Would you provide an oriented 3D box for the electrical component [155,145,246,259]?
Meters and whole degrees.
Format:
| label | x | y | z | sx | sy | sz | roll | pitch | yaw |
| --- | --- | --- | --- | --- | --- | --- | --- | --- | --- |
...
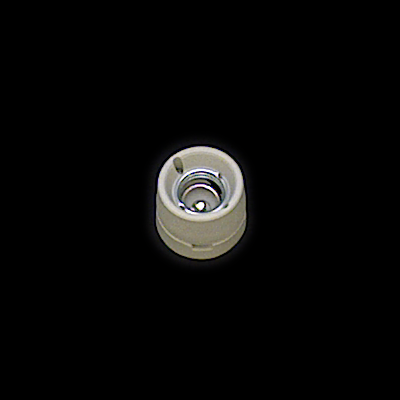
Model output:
| label | x | y | z | sx | sy | sz | roll | pitch | yaw |
| --- | --- | --- | --- | --- | --- | --- | --- | --- | --- |
| electrical component | 0.000 | 0.000 | 0.633 | 0.055 | 0.055 | 0.047 | 0 | -28 | 1 |
